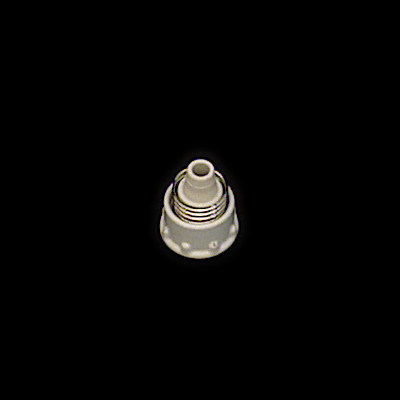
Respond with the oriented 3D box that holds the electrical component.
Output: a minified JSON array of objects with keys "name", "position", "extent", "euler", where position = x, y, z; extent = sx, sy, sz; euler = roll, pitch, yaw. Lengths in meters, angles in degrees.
[{"name":"electrical component","position":[0.000,0.000,0.636],"extent":[0.048,0.048,0.062],"euler":[0,-37,-2]}]
